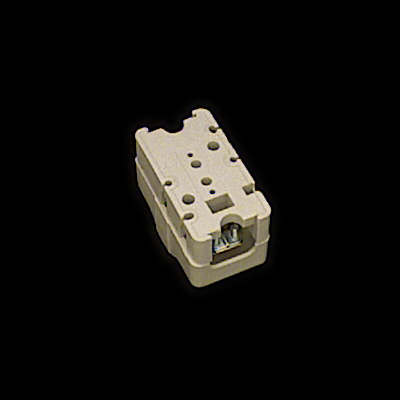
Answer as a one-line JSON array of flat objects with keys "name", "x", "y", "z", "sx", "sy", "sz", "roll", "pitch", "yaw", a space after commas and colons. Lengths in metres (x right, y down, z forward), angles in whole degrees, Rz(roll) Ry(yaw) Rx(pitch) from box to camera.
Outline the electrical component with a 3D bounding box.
[{"name": "electrical component", "x": 0.000, "y": 0.000, "z": 0.637, "sx": 0.050, "sy": 0.089, "sz": 0.056, "roll": -20, "pitch": -34, "yaw": -15}]
